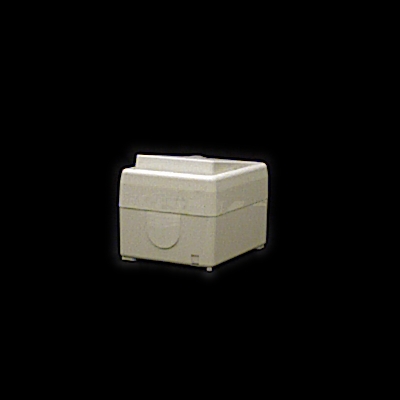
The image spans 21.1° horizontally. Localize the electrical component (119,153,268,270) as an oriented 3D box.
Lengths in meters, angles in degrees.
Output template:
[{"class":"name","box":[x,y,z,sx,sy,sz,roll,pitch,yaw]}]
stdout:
[{"class":"electrical component","box":[0.000,0.000,0.646,0.061,0.061,0.096,6,11,26]}]
